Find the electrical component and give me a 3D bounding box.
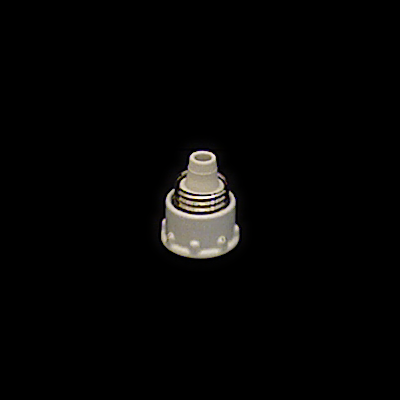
[{"bbox_3d":[0.000,0.000,0.642,0.048,0.063,0.047,2,32,-1],"label":"electrical component"}]
